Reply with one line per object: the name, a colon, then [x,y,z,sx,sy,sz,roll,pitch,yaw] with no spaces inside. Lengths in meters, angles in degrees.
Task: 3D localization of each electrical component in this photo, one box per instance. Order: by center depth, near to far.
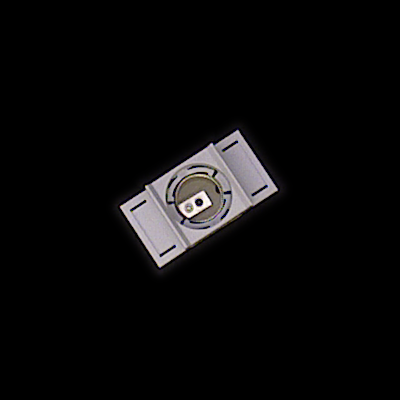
electrical component: [0.000,0.000,0.624,0.081,0.042,0.063,-33,-4,-4]
